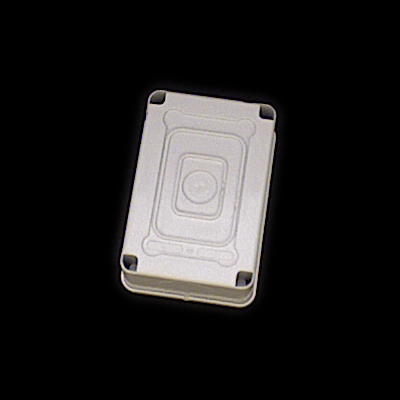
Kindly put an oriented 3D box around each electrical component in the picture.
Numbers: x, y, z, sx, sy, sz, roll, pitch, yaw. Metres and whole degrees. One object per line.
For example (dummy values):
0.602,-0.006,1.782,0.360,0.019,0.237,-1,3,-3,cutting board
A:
0.000,0.000,0.627,0.078,0.113,0.057,8,-16,2,electrical component
